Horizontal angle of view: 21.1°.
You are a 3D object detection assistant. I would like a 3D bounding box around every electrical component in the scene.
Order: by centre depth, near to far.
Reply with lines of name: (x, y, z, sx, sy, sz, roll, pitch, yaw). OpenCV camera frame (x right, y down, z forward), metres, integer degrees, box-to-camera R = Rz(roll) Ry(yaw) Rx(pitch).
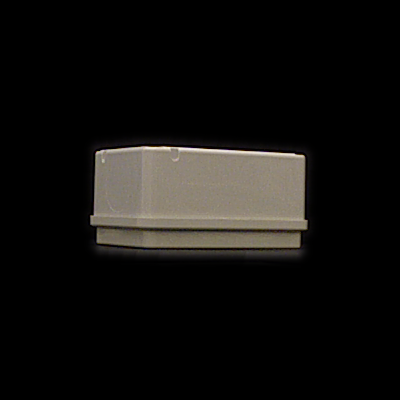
electrical component: (0.000, 0.000, 0.650, 0.113, 0.057, 0.078, 2, 0, -30)
